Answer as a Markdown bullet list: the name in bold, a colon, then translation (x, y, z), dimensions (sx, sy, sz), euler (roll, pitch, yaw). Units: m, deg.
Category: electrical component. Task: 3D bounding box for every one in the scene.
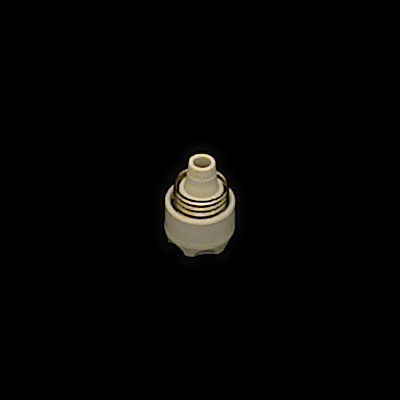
- **electrical component**: translation (0.000, 0.000, 0.638), dimensions (0.043, 0.062, 0.043), euler (1, 42, -1)
